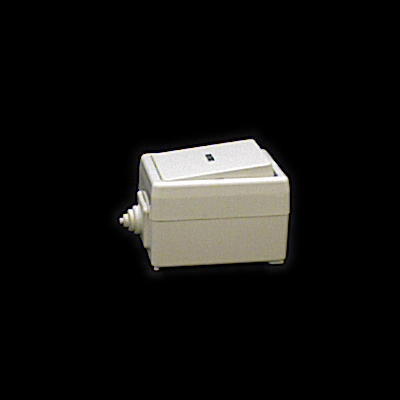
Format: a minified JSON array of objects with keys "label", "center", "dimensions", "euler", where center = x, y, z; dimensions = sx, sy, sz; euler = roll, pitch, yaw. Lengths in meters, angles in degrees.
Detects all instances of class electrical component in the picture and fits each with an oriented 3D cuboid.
[{"label":"electrical component","center":[0.000,0.000,0.639],"dimensions":[0.096,0.061,0.061],"euler":[-3,21,-10]}]
